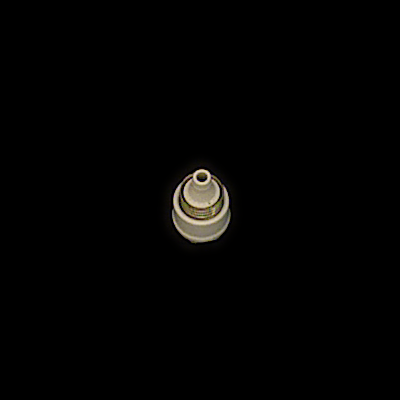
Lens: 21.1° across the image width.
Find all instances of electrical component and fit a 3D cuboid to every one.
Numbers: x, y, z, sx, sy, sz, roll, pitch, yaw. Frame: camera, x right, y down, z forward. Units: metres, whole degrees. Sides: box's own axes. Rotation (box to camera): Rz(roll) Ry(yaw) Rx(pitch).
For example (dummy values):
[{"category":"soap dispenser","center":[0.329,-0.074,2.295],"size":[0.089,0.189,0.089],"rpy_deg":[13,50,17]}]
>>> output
[{"category":"electrical component","center":[0.000,0.000,0.638],"size":[0.035,0.035,0.061],"rpy_deg":[0,-26,-1]}]
